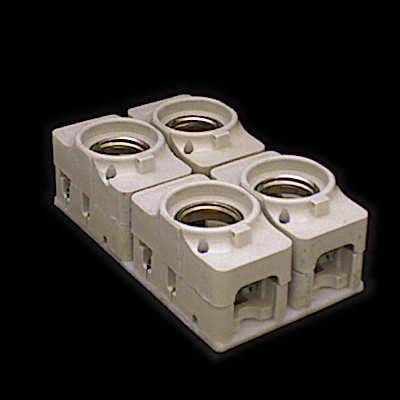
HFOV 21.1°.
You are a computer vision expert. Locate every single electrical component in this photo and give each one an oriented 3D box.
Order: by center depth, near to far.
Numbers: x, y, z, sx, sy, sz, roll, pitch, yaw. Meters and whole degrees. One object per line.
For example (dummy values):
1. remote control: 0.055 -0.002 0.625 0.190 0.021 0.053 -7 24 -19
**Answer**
1. electrical component: 0.000 0.000 0.634 0.105 0.061 0.184 -19 37 -29
